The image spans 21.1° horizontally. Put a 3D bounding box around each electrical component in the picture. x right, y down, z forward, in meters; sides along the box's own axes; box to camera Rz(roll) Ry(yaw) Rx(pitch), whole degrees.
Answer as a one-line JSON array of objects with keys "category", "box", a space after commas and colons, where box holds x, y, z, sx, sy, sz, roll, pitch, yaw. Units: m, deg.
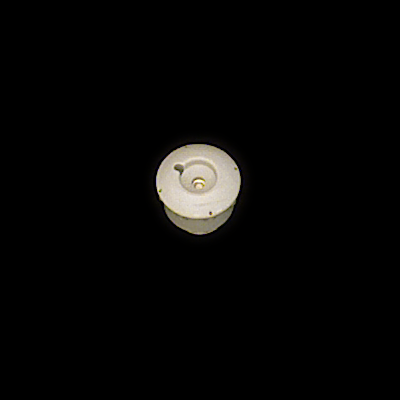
[{"category": "electrical component", "box": [0.000, 0.000, 0.632, 0.048, 0.048, 0.062, 0, -27, 0]}]
